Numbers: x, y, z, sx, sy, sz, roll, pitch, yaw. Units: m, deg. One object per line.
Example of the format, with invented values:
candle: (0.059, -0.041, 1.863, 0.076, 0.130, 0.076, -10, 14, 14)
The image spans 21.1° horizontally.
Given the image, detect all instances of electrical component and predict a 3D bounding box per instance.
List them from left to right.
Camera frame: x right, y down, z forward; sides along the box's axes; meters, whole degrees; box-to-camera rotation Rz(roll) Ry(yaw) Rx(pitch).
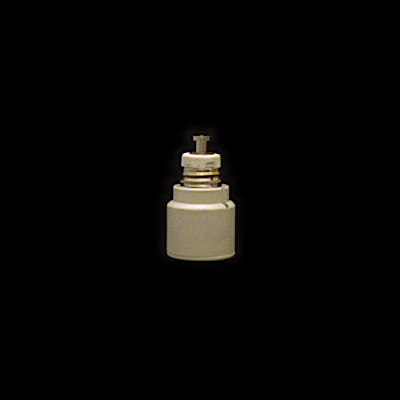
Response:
electrical component: (0.000, 0.000, 0.641, 0.040, 0.079, 0.040, 0, 11, 0)
